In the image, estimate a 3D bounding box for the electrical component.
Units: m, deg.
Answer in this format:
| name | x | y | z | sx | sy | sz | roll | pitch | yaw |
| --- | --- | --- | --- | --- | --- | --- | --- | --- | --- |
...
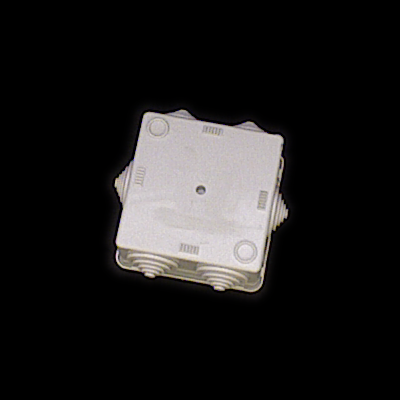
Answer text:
| name | x | y | z | sx | sy | sz | roll | pitch | yaw |
| --- | --- | --- | --- | --- | --- | --- | --- | --- | --- |
| electrical component | 0.000 | 0.000 | 0.631 | 0.100 | 0.100 | 0.048 | 10 | -16 | 3 |
